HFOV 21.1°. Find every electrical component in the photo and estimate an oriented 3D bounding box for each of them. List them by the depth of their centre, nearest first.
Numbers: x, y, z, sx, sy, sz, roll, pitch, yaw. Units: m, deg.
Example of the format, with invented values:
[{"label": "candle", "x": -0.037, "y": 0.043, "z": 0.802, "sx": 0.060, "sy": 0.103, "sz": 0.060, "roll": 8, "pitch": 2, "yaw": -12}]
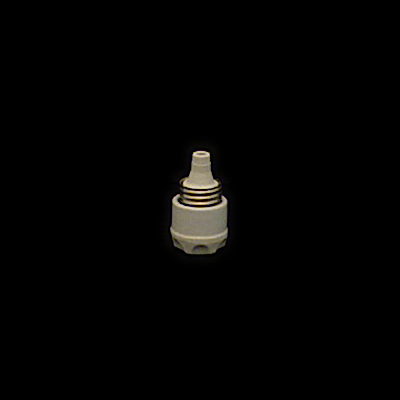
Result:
[{"label": "electrical component", "x": 0.000, "y": 0.000, "z": 0.651, "sx": 0.035, "sy": 0.062, "sz": 0.034, "roll": 2, "pitch": 21, "yaw": 0}]
